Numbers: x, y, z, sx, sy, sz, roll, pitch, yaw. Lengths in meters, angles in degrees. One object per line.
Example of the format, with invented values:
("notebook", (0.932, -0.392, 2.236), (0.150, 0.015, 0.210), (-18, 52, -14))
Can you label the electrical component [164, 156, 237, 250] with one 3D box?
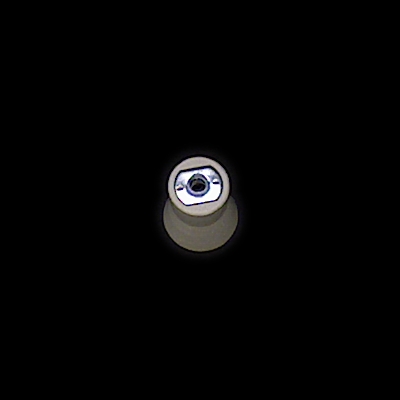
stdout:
("electrical component", (0.000, 0.000, 0.625), (0.044, 0.044, 0.065), (0, -18, 1))
